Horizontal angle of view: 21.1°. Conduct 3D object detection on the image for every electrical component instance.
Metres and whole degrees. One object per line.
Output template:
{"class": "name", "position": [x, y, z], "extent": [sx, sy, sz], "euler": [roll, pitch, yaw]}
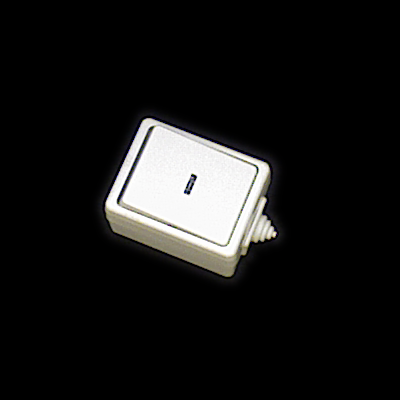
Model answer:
{"class": "electrical component", "position": [0.000, 0.000, 0.625], "extent": [0.096, 0.062, 0.060], "euler": [21, -16, 6]}
